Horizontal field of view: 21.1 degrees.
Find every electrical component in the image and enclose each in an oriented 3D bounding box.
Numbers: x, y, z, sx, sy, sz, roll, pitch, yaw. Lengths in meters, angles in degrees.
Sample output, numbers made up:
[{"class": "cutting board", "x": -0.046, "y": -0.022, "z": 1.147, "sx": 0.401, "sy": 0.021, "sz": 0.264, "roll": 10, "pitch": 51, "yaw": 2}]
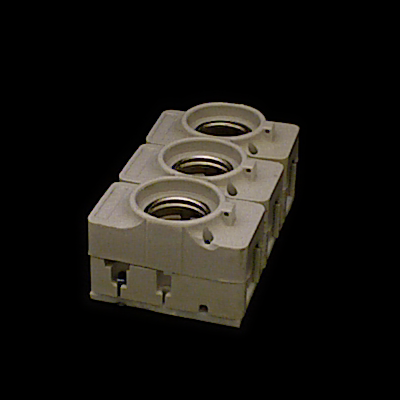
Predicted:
[{"class": "electrical component", "x": 0.000, "y": 0.000, "z": 0.641, "sx": 0.089, "sy": 0.063, "sz": 0.147, "roll": 9, "pitch": 32, "yaw": 12}]
